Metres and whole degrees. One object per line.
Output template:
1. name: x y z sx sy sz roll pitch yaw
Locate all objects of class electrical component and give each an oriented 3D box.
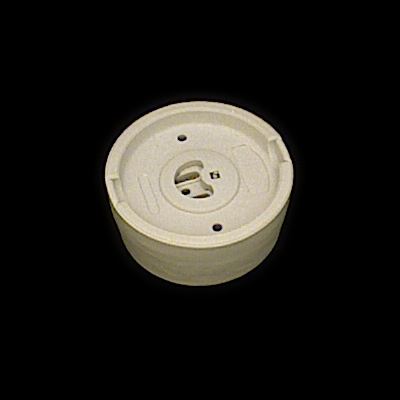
1. electrical component: 0.000 0.000 0.637 0.108 0.107 0.061 0 -37 0
